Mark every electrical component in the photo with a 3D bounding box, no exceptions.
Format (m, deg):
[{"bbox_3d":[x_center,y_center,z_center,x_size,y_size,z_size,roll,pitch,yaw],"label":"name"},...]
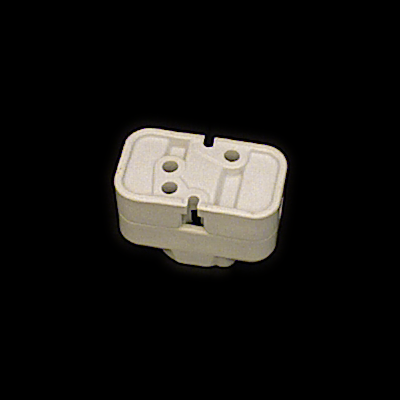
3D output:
[{"bbox_3d":[0.000,0.000,0.634,0.095,0.053,0.059,9,-37,6],"label":"electrical component"}]
